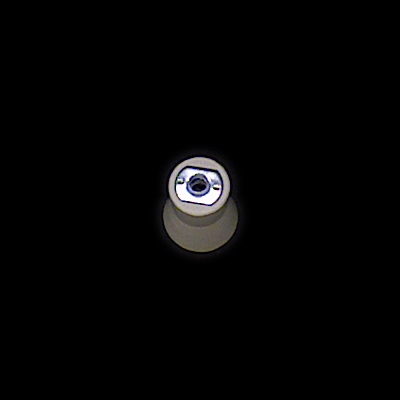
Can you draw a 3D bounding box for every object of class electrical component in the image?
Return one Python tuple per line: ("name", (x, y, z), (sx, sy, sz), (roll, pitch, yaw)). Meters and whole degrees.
("electrical component", (0.000, 0.000, 0.625), (0.044, 0.044, 0.065), (0, -18, 0))
